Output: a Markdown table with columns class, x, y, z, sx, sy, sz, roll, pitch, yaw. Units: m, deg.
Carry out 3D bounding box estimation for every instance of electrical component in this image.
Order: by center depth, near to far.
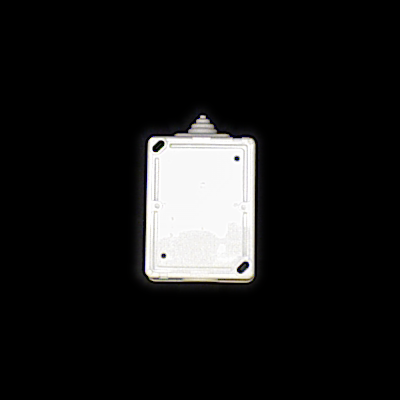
| class | x | y | z | sx | sy | sz | roll | pitch | yaw |
| --- | --- | --- | --- | --- | --- | --- | --- | --- | --- |
| electrical component | 0.000 | 0.000 | 0.627 | 0.062 | 0.096 | 0.061 | 1 | -7 | 1 |
